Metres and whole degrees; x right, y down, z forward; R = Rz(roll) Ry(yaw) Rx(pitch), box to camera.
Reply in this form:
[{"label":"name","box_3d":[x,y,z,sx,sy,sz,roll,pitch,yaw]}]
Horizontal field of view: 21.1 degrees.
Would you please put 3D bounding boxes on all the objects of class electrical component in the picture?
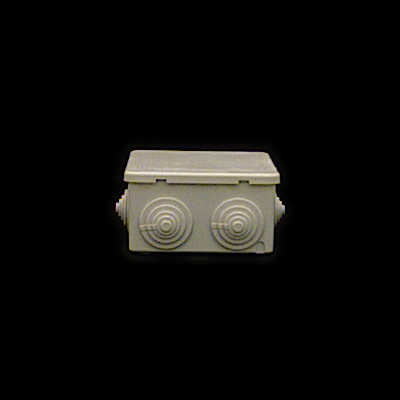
[{"label":"electrical component","box_3d":[0.000,0.000,0.650,0.100,0.049,0.099,1,11,-2]}]
